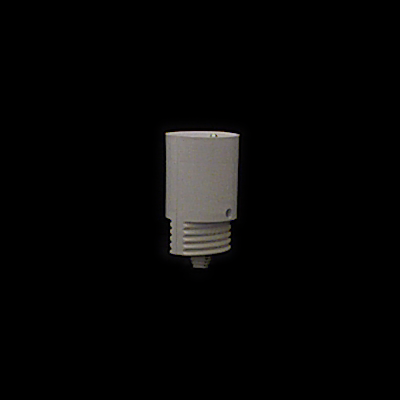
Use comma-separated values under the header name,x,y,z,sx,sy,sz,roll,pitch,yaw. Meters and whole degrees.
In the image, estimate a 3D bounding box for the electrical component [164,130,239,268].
name,x,y,z,sx,sy,sz,roll,pitch,yaw
electrical component,0.000,0.000,0.645,0.043,0.082,0.042,2,11,0
